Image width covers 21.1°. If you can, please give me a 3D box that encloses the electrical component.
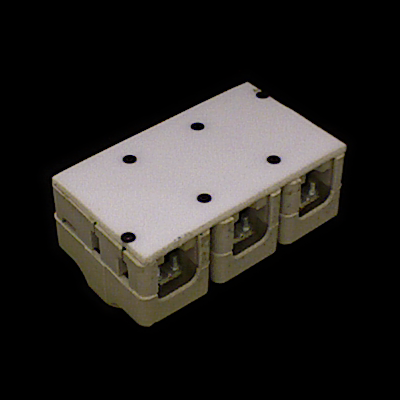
[{"bbox_3d":[0.000,0.000,0.634,0.149,0.063,0.088,-29,49,-28],"label":"electrical component"}]
